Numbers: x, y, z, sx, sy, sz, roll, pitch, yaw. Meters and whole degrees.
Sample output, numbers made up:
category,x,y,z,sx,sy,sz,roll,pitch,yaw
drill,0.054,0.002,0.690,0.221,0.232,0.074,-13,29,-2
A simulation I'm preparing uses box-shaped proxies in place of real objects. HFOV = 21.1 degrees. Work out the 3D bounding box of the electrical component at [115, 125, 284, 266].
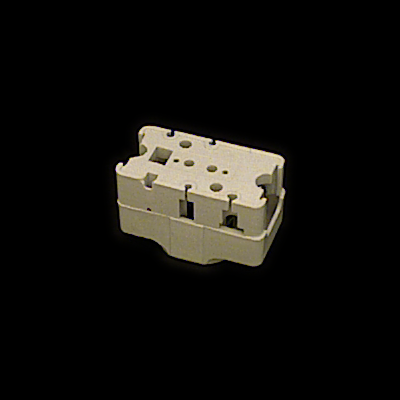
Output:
category,x,y,z,sx,sy,sz,roll,pitch,yaw
electrical component,0.000,0.000,0.639,0.089,0.056,0.050,14,45,14
